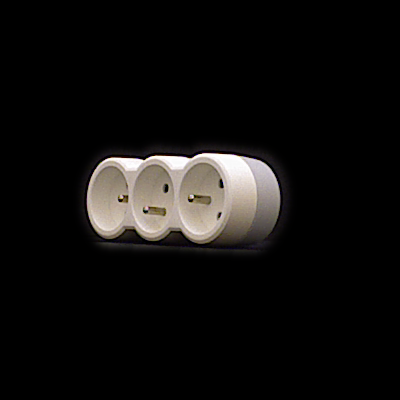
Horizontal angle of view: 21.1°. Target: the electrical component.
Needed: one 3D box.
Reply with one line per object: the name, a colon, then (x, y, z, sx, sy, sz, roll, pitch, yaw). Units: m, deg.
electrical component: (0.000, 0.000, 0.652, 0.074, 0.052, 0.137, 4, -2, -41)
